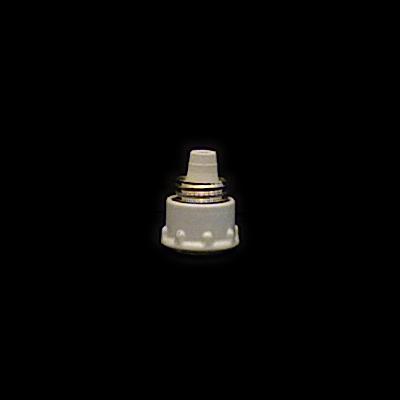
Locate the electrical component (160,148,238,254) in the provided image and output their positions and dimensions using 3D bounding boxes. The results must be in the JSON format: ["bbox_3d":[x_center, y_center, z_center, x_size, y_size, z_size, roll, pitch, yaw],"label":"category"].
[{"bbox_3d":[0.000,0.000,0.652,0.048,0.062,0.048,2,12,0],"label":"electrical component"}]
